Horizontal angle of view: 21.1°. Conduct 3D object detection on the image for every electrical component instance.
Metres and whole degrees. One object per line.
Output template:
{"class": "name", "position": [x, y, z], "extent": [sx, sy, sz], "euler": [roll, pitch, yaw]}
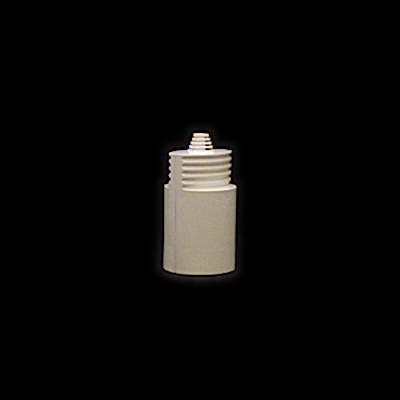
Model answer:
{"class": "electrical component", "position": [0.000, 0.000, 0.643], "extent": [0.043, 0.081, 0.043], "euler": [1, 11, 0]}
